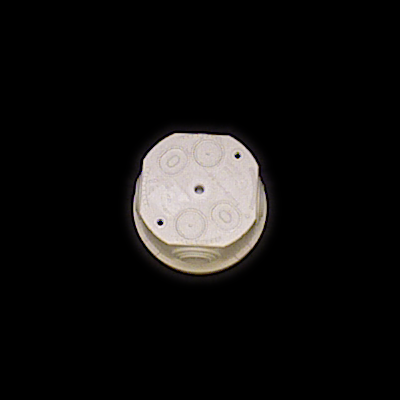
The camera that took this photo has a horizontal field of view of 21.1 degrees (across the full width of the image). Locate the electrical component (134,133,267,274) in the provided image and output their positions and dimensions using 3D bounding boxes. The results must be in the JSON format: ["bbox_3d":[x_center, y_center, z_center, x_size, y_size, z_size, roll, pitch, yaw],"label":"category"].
[{"bbox_3d":[0.000,0.000,0.631,0.080,0.080,0.050,0,-16,0],"label":"electrical component"}]
